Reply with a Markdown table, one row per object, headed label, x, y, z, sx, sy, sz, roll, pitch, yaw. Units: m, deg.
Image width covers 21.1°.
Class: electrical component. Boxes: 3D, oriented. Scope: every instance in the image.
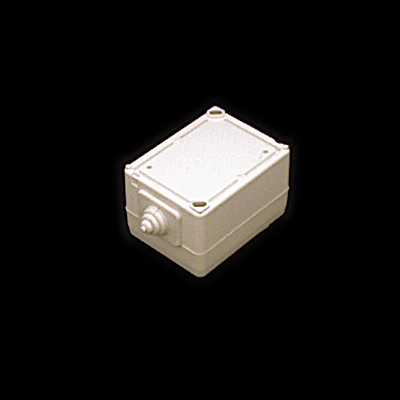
| label | x | y | z | sx | sy | sz | roll | pitch | yaw |
| --- | --- | --- | --- | --- | --- | --- | --- | --- | --- |
| electrical component | 0.000 | 0.000 | 0.632 | 0.061 | 0.061 | 0.096 | 31 | 51 | 30 |
